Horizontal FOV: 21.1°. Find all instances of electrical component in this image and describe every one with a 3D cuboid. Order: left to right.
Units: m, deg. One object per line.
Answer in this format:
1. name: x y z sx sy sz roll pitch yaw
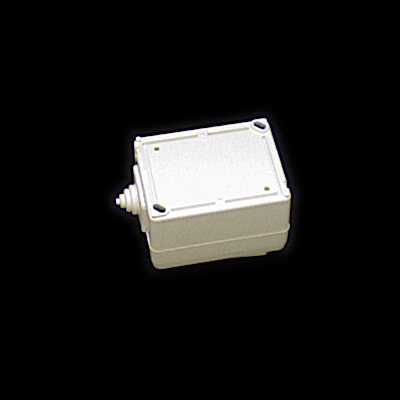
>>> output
1. electrical component: 0.000 0.000 0.625 0.096 0.061 0.061 -9 -37 -8
